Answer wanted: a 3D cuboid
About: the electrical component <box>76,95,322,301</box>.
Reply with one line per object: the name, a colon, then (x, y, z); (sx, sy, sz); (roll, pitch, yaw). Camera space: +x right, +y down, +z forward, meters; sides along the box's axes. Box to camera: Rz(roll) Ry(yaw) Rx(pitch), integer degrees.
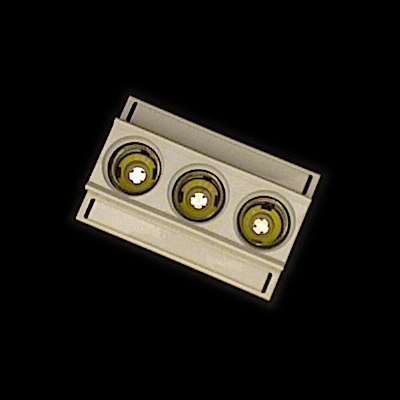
electrical component: (0.000, 0.000, 0.638); (0.121, 0.079, 0.063); (23, -6, 3)
